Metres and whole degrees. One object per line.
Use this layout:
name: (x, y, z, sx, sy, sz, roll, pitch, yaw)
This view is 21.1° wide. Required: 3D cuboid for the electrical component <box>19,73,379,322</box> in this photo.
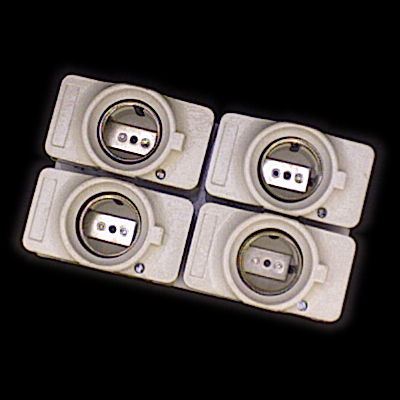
electrical component: (0.000, 0.000, 0.627, 0.186, 0.106, 0.060, 13, -7, 1)
